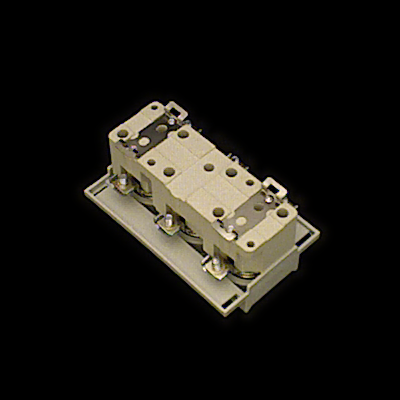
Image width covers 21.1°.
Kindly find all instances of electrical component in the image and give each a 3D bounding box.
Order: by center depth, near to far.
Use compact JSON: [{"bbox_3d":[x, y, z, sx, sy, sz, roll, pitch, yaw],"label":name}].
[{"bbox_3d":[0.000,0.000,0.633,0.079,0.063,0.120,-39,62,-24],"label":"electrical component"}]
